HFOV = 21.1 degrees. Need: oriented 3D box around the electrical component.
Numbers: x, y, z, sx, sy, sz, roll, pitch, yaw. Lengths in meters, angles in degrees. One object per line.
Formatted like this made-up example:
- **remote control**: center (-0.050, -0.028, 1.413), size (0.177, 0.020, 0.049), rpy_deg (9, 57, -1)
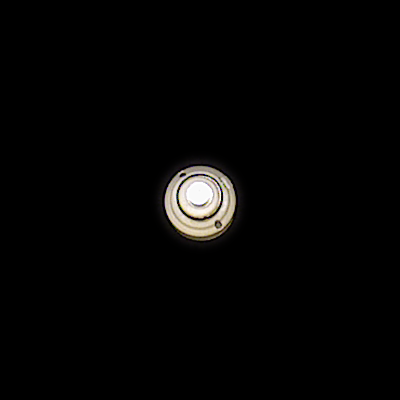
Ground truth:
- **electrical component**: center (0.000, 0.000, 0.618), size (0.040, 0.040, 0.078), rpy_deg (0, -6, 1)
